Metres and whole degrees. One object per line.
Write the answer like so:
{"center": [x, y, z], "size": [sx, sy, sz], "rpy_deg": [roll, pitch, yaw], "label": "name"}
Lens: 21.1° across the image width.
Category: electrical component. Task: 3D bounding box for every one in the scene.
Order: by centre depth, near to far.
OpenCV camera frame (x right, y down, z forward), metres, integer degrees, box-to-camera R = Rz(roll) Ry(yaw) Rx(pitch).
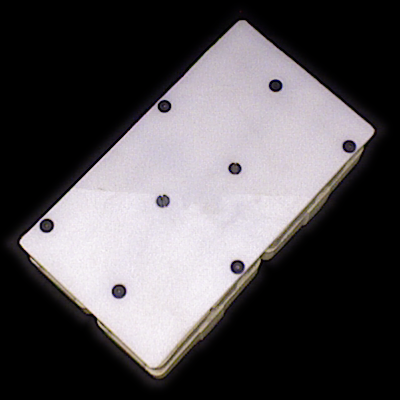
{"center": [0.000, 0.000, 0.625], "size": [0.105, 0.187, 0.060], "rpy_deg": [41, -13, 11], "label": "electrical component"}
